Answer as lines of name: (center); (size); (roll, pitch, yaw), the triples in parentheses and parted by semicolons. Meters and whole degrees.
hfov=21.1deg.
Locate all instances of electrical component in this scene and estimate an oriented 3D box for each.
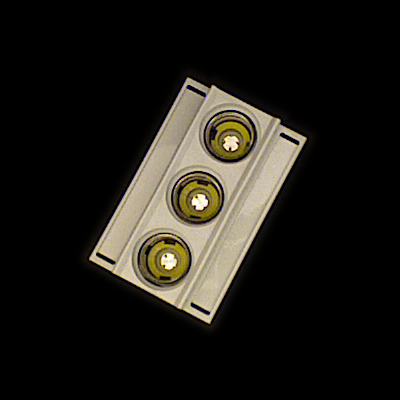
electrical component: (0.000, 0.000, 0.637); (0.079, 0.121, 0.063); (28, -5, 5)
